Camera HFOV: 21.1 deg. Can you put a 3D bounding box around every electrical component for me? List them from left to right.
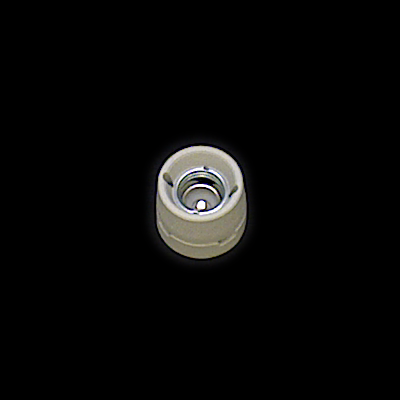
[{"bbox_3d":[0.000,0.000,0.633,0.055,0.056,0.047,0,-28,1],"label":"electrical component"}]
